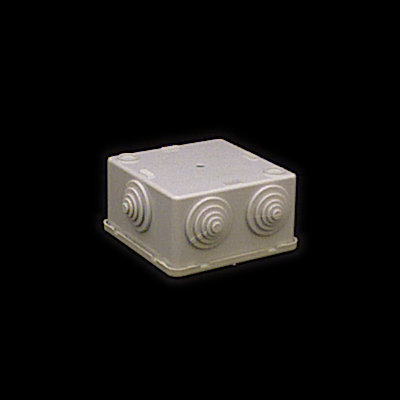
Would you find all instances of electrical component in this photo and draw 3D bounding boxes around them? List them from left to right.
[{"bbox_3d":[0.000,0.000,0.642,0.100,0.049,0.098,-12,25,-30],"label":"electrical component"}]
